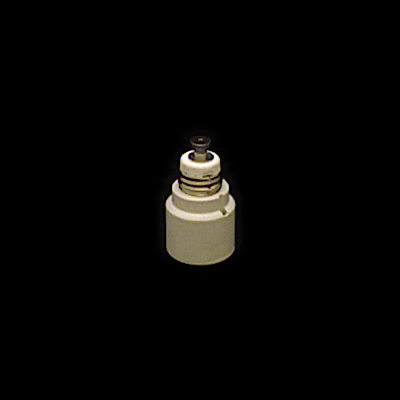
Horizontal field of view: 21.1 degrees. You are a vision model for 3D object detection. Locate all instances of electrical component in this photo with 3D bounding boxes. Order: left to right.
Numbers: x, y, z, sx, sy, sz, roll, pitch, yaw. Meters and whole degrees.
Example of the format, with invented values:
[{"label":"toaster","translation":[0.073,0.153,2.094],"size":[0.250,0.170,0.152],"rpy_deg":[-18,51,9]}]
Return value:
[{"label":"electrical component","translation":[0.000,0.000,0.628],"size":[0.040,0.079,0.039],"rpy_deg":[0,31,0]}]
